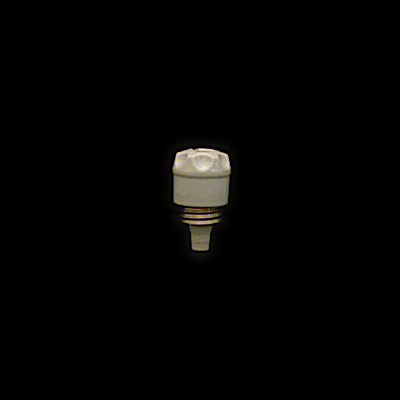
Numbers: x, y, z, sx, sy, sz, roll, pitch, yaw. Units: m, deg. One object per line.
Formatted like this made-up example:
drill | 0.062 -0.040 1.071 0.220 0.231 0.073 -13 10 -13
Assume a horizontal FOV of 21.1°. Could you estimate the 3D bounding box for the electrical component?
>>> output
electrical component | 0.000 0.000 0.654 0.035 0.062 0.035 1 12 0
